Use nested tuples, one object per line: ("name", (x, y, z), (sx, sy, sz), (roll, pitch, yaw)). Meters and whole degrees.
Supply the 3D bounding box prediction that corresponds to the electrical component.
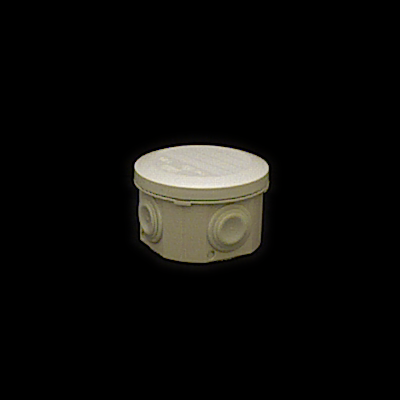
("electrical component", (0.000, 0.000, 0.642), (0.080, 0.051, 0.079), (1, 21, 0))
